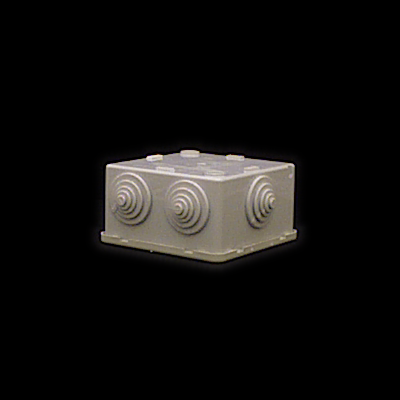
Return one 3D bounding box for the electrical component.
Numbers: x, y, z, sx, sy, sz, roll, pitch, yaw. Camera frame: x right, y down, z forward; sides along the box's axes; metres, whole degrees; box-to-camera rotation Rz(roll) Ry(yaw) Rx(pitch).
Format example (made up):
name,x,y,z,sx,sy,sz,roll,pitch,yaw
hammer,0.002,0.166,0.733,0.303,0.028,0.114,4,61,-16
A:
name,x,y,z,sx,sy,sz,roll,pitch,yaw
electrical component,0.000,0.000,0.645,0.099,0.049,0.099,8,13,35
